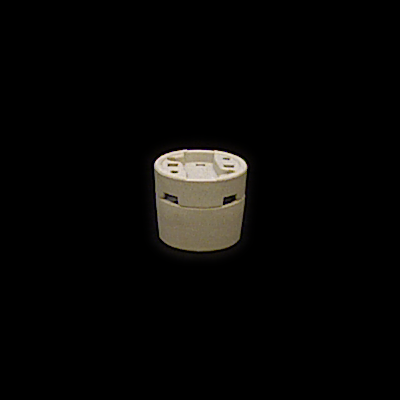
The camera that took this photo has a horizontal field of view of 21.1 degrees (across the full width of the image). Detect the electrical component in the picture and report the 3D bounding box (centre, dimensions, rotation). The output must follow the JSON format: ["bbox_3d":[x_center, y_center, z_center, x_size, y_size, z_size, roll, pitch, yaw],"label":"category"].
[{"bbox_3d":[0.000,0.000,0.641,0.055,0.047,0.055,1,21,0],"label":"electrical component"}]
